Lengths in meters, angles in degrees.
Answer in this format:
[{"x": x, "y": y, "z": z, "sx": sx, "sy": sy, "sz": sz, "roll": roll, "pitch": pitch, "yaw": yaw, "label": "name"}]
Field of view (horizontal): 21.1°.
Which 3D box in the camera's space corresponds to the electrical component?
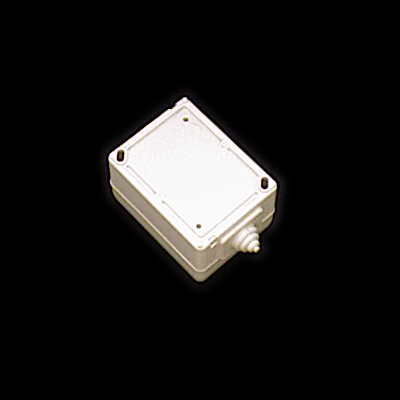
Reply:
[{"x": 0.000, "y": 0.000, "z": 0.626, "sx": 0.062, "sy": 0.096, "sz": 0.060, "roll": -39, "pitch": -20, "yaw": -18, "label": "electrical component"}]
